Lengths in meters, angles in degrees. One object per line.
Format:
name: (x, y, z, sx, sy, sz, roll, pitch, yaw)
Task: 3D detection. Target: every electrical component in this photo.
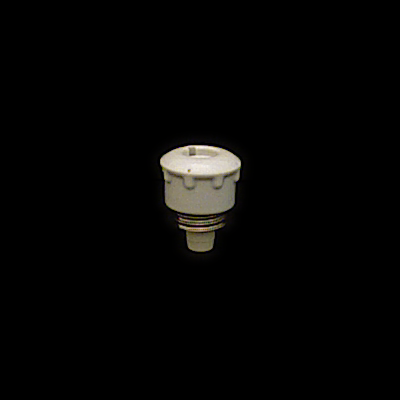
electrical component: (0.000, 0.000, 0.645, 0.048, 0.062, 0.047, 1, 21, 0)
